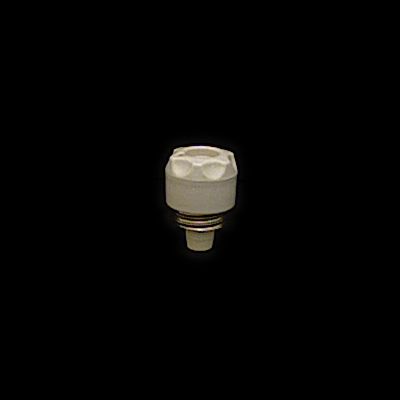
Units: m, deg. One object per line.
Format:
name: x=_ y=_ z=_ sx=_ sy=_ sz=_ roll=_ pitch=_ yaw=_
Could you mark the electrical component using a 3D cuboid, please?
electrical component: x=0.000 y=0.000 z=0.647 sx=0.043 sy=0.063 sz=0.043 roll=2 pitch=21 yaw=0
